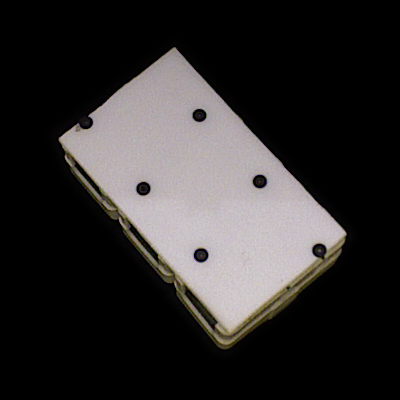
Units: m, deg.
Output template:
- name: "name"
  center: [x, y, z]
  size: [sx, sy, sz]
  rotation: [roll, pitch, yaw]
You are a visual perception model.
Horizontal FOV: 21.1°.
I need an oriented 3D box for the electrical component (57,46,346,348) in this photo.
- name: "electrical component"
  center: [0.000, 0.000, 0.630]
  size: [0.089, 0.150, 0.062]
  rotation: [-39, -13, -10]
